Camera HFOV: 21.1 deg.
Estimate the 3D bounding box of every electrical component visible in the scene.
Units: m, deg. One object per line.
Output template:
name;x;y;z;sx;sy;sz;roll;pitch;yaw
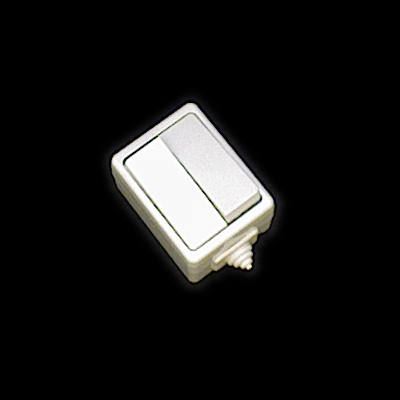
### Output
electrical component;0.000;0.000;0.625;0.062;0.096;0.060;-36;-14;-10
